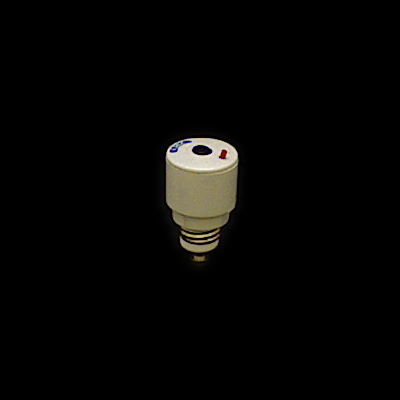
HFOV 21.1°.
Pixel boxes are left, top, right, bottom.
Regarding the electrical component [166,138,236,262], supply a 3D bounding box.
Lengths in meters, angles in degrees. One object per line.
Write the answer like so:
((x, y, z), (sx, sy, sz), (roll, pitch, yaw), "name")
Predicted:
((0.000, 0.000, 0.628), (0.040, 0.079, 0.039), (1, 31, -1), "electrical component")
